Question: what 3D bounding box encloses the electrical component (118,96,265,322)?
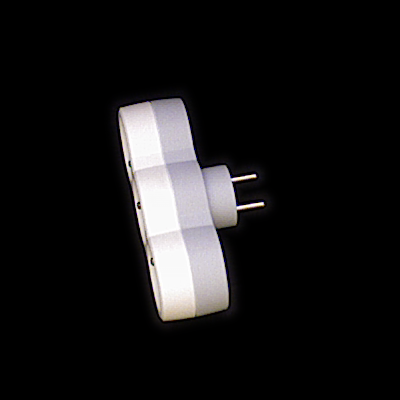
[{"bbox_3d":[0.000,0.000,0.632,0.074,0.138,0.052,-10,-27,-8],"label":"electrical component"}]
